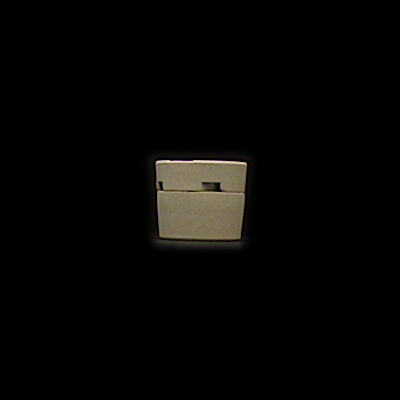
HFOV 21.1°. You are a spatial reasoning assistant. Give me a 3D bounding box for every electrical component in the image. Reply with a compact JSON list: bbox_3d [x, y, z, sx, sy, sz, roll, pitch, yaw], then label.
[{"bbox_3d":[0.000,0.000,0.649,0.055,0.047,0.055,1,0,0],"label":"electrical component"}]
